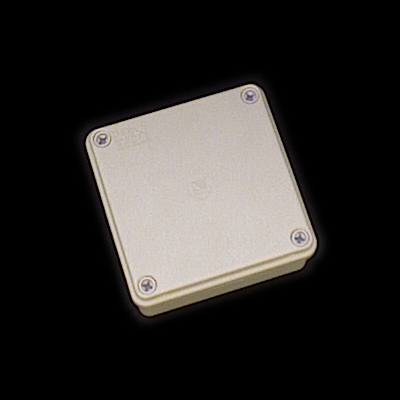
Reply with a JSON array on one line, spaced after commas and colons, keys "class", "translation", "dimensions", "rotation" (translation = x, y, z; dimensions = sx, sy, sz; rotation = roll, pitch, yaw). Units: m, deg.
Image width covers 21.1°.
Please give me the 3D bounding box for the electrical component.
[{"class": "electrical component", "translation": [0.000, 0.000, 0.629], "dimensions": [0.109, 0.109, 0.056], "rotation": [-17, -16, -5]}]
